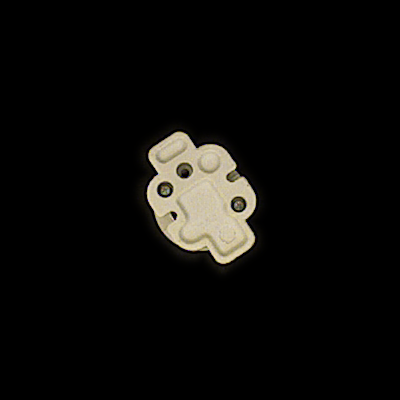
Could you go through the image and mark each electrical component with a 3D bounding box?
[{"bbox_3d":[0.000,0.000,0.637,0.058,0.078,0.056,-34,-3,-3],"label":"electrical component"}]
